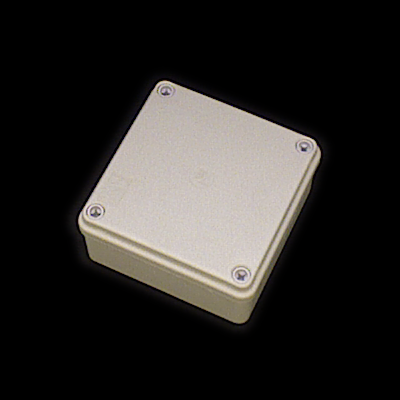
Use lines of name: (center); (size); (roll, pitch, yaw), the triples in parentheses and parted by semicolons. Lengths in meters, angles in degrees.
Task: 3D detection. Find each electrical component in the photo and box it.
electrical component: (0.000, 0.000, 0.630); (0.108, 0.109, 0.056); (23, -25, 11)
